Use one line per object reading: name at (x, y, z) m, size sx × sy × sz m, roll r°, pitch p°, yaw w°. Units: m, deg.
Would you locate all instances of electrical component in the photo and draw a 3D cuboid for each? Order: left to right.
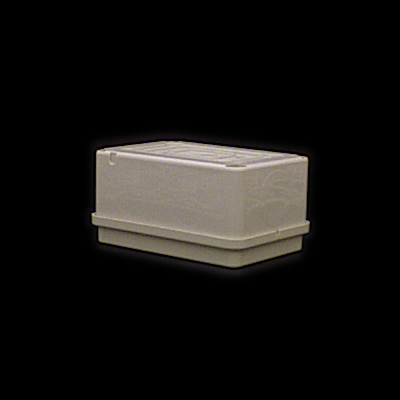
electrical component at (0.000, 0.000, 0.644) m, size 0.112 × 0.057 × 0.078 m, roll 10°, pitch 13°, yaw 37°
